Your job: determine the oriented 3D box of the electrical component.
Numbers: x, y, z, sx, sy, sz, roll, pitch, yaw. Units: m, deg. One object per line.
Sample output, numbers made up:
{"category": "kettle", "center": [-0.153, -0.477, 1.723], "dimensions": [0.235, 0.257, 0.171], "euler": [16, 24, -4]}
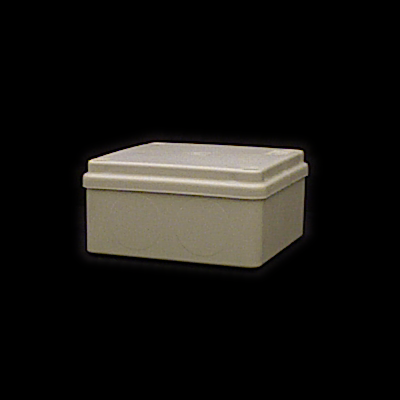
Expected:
{"category": "electrical component", "center": [0.000, 0.000, 0.644], "dimensions": [0.108, 0.056, 0.108], "euler": [4, 11, 19]}
